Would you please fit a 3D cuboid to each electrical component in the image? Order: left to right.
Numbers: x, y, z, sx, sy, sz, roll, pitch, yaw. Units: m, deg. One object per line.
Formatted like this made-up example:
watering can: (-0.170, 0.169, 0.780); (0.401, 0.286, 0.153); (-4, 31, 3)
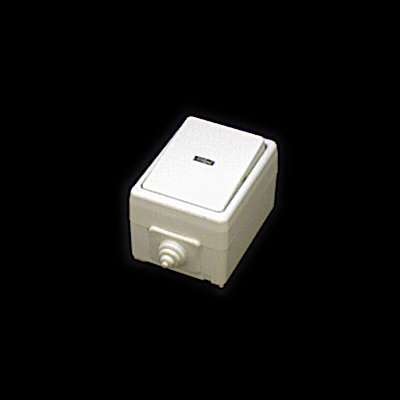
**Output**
electrical component: (0.000, 0.000, 0.629); (0.061, 0.061, 0.096); (18, 45, 18)
